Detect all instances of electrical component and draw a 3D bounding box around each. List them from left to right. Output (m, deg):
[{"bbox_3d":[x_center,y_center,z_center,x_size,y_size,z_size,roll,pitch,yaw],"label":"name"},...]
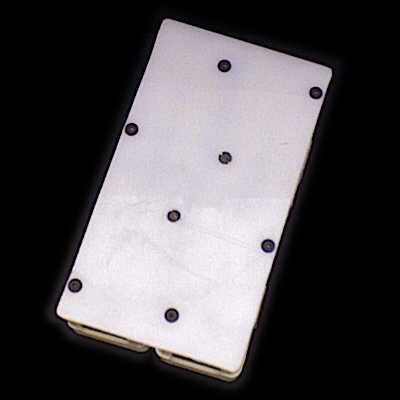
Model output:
[{"bbox_3d":[0.000,0.000,0.625,0.105,0.187,0.060,17,-16,5],"label":"electrical component"}]
